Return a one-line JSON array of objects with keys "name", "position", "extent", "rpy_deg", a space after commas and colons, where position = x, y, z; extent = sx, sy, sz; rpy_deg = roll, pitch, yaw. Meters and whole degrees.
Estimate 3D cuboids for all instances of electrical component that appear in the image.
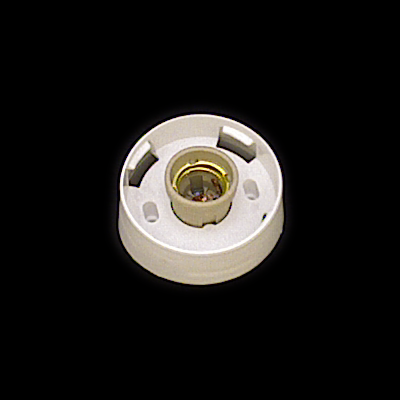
[{"name": "electrical component", "position": [0.000, 0.000, 0.625], "extent": [0.099, 0.099, 0.064], "rpy_deg": [0, -28, 0]}]
